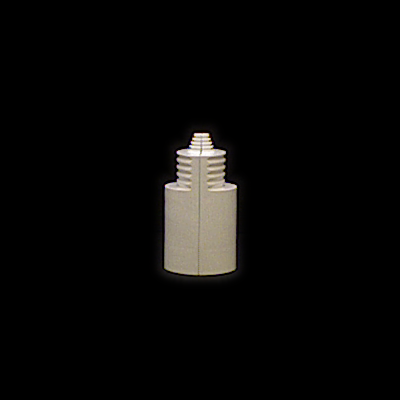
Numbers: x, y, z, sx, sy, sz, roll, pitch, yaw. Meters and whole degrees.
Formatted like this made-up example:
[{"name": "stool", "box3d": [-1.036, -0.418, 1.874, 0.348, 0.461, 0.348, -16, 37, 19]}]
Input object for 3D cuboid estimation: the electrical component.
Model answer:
[{"name": "electrical component", "box3d": [0.000, 0.000, 0.643, 0.043, 0.081, 0.043, 1, 11, 0]}]
